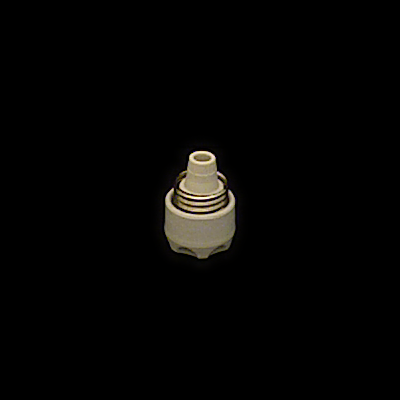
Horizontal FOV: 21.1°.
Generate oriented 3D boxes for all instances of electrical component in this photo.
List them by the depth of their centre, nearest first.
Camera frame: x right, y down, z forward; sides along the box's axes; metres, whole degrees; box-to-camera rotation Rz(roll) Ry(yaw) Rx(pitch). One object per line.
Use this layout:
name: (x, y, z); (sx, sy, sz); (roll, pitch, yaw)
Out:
electrical component: (0.000, 0.000, 0.641); (0.043, 0.063, 0.043); (2, 33, -1)
